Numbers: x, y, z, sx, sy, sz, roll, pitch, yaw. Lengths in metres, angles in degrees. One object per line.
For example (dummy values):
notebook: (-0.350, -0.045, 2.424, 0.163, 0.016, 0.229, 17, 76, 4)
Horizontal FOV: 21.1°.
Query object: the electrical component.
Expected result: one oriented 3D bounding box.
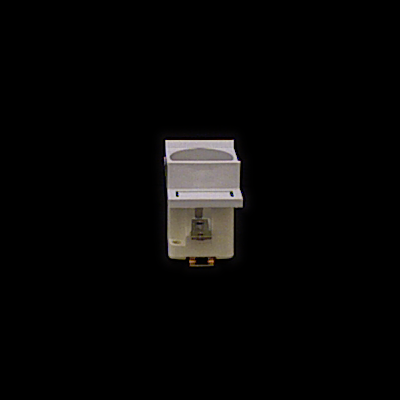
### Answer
electrical component: (0.000, 0.000, 0.635, 0.042, 0.064, 0.080, 1, 20, -4)
